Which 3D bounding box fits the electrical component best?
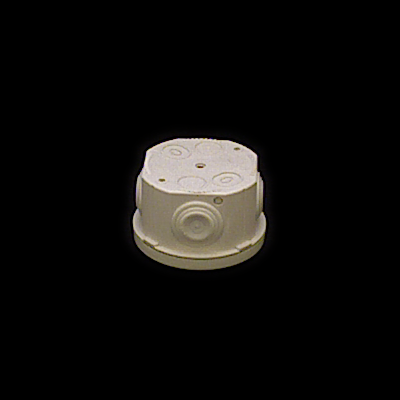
[{"bbox_3d":[0.000,0.000,0.638,0.080,0.051,0.079,1,31,-1],"label":"electrical component"}]
